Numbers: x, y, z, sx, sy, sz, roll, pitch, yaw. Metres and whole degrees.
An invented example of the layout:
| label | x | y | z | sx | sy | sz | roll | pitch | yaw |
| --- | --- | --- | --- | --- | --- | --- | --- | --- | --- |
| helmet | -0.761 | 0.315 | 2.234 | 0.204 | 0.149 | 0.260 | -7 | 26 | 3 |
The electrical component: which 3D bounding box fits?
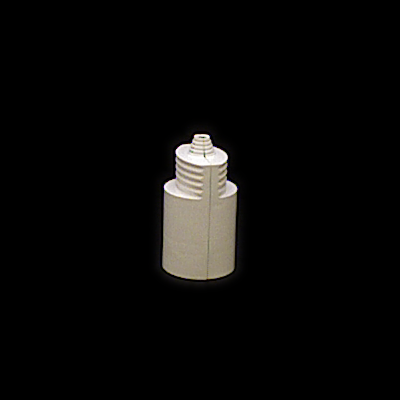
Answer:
| label | x | y | z | sx | sy | sz | roll | pitch | yaw |
| --- | --- | --- | --- | --- | --- | --- | --- | --- | --- |
| electrical component | 0.000 | 0.000 | 0.634 | 0.043 | 0.082 | 0.042 | 1 | 21 | 0 |
